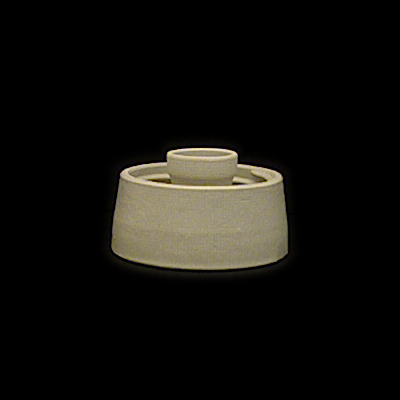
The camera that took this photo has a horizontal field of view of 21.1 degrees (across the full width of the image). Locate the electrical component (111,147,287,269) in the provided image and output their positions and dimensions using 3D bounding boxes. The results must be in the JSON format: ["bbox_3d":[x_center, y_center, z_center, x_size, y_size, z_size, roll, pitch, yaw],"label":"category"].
[{"bbox_3d":[0.000,0.000,0.651,0.108,0.061,0.107,1,11,0],"label":"electrical component"}]
